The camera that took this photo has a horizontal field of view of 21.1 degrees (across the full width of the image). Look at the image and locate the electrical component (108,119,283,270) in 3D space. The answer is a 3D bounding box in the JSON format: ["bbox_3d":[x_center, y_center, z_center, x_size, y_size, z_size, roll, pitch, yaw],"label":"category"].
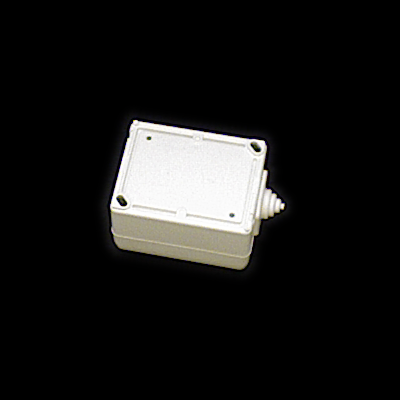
[{"bbox_3d":[0.000,0.000,0.627,0.096,0.062,0.061,9,-28,5],"label":"electrical component"}]
